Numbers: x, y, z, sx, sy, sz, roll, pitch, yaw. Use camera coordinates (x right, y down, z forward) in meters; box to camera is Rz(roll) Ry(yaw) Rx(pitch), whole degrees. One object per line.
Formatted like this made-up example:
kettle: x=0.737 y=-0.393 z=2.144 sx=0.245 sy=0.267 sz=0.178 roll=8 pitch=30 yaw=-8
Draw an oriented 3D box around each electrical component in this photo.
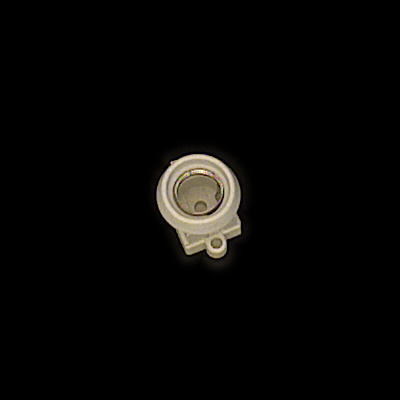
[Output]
electrical component: x=0.000 y=0.000 z=0.637 sx=0.048 sy=0.066 sz=0.055 roll=-23 pitch=-15 yaw=-8
